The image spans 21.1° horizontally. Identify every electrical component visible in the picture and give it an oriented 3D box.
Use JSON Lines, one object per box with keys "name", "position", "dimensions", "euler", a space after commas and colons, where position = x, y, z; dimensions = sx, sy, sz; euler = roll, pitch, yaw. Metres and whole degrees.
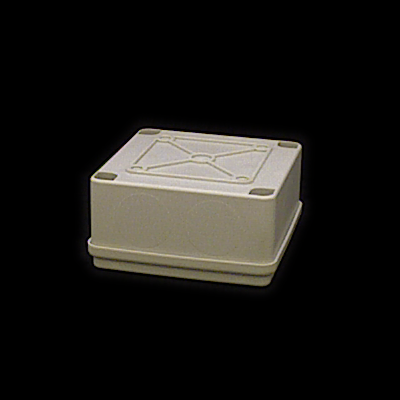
{"name": "electrical component", "position": [0.000, 0.000, 0.638], "dimensions": [0.108, 0.057, 0.107], "euler": [6, 22, 12]}
